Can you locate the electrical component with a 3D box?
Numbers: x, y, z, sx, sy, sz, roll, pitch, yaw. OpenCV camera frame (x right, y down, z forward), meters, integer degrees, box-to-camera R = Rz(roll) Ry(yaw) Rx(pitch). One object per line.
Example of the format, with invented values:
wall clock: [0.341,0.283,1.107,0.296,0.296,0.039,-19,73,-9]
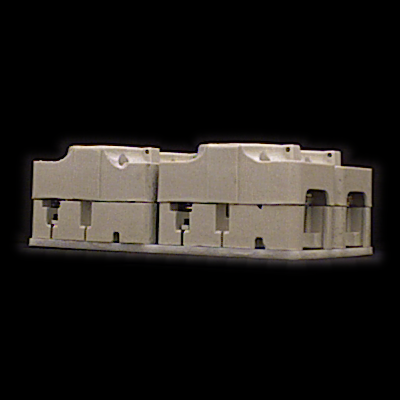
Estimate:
electrical component: [0.000,0.000,0.650,0.186,0.060,0.106,1,0,32]
